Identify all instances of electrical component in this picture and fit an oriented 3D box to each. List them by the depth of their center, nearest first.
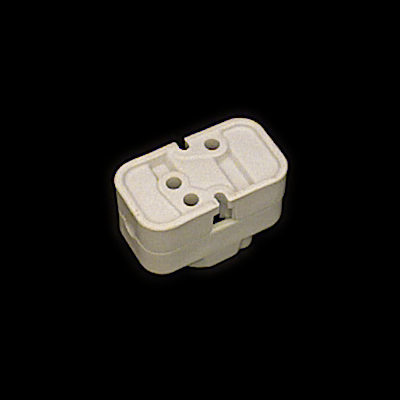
[{"bbox_3d":[0.000,0.000,0.635,0.095,0.053,0.059,-24,-33,-18],"label":"electrical component"}]
